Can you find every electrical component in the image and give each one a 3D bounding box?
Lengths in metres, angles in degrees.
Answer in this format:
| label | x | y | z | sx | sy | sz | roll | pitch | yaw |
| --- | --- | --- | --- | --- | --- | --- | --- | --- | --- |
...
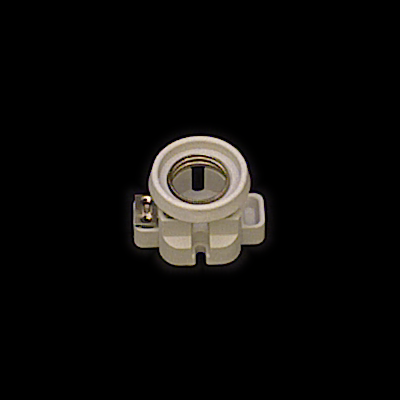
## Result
| label | x | y | z | sx | sy | sz | roll | pitch | yaw |
| --- | --- | --- | --- | --- | --- | --- | --- | --- | --- |
| electrical component | 0.000 | 0.000 | 0.629 | 0.078 | 0.057 | 0.057 | -2 | -37 | -2 |
